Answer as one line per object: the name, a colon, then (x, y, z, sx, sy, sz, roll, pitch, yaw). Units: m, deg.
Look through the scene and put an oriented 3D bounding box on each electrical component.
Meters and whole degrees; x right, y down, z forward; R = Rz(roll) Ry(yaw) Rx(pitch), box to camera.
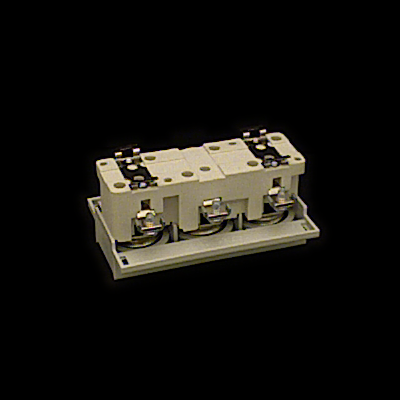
electrical component: (0.000, 0.000, 0.643, 0.122, 0.064, 0.077, -10, 33, -17)
